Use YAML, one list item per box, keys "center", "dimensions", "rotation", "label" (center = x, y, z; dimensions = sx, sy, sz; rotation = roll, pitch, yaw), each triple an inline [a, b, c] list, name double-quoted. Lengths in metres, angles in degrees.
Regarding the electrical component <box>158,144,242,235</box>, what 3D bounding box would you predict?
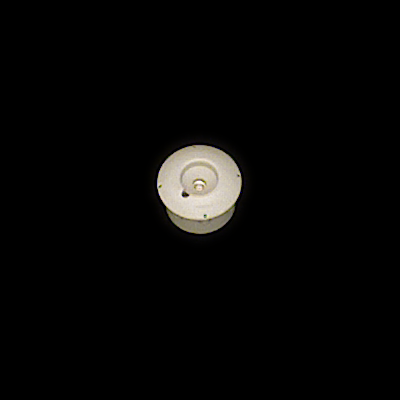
- center: [0.000, 0.000, 0.633]
  dimensions: [0.048, 0.048, 0.062]
  rotation: [0, -27, 0]
  label: "electrical component"
